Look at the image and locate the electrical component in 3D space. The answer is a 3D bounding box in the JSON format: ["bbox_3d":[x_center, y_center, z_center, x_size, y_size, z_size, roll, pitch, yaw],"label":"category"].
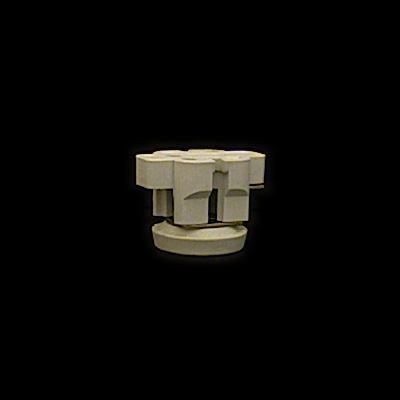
[{"bbox_3d":[0.000,0.000,0.653,0.079,0.057,0.057,-3,11,-27],"label":"electrical component"}]
